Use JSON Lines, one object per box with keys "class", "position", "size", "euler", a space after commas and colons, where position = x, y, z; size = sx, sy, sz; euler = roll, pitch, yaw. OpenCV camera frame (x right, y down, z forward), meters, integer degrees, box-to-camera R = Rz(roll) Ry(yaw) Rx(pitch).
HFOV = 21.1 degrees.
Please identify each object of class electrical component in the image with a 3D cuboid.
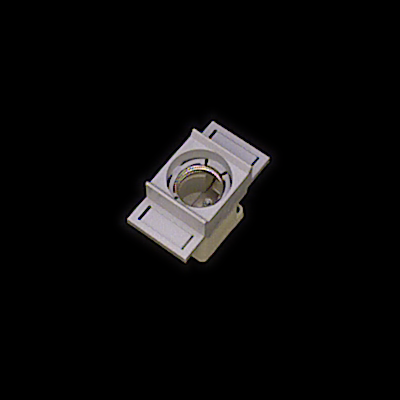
{"class": "electrical component", "position": [0.000, 0.000, 0.625], "size": [0.042, 0.081, 0.064], "euler": [34, -22, 17]}
